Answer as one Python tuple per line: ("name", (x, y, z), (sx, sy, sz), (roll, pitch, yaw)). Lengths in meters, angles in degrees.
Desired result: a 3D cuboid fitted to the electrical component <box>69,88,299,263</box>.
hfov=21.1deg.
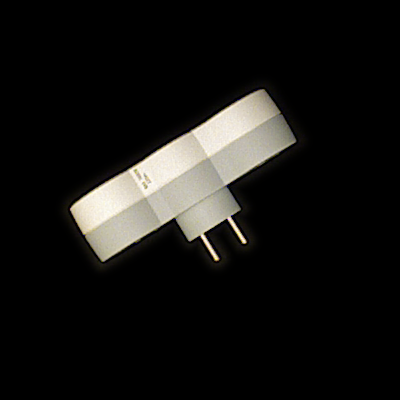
("electrical component", (0.000, 0.000, 0.639), (0.138, 0.074, 0.052), (-32, -3, -3))
